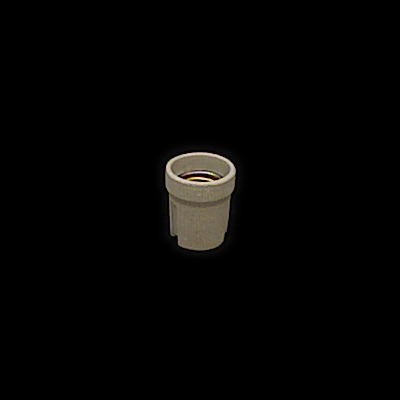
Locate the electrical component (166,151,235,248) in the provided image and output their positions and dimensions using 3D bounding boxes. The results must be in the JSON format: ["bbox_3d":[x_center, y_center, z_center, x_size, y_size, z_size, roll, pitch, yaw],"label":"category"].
[{"bbox_3d":[0.000,0.000,0.637,0.040,0.047,0.039,1,32,0],"label":"electrical component"}]
